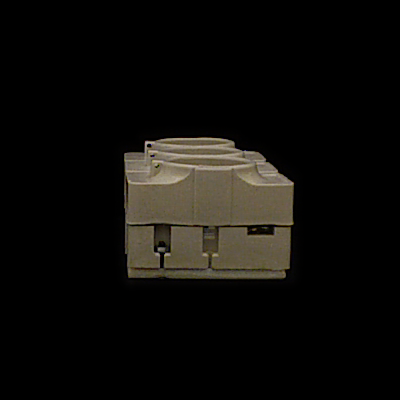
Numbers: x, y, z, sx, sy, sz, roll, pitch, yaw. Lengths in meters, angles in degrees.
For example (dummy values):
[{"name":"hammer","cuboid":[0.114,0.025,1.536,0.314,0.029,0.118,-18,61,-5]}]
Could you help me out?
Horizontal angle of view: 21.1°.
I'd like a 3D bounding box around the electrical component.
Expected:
[{"name":"electrical component","cuboid":[0.000,0.000,0.649,0.090,0.062,0.148,0,9,-5]}]
